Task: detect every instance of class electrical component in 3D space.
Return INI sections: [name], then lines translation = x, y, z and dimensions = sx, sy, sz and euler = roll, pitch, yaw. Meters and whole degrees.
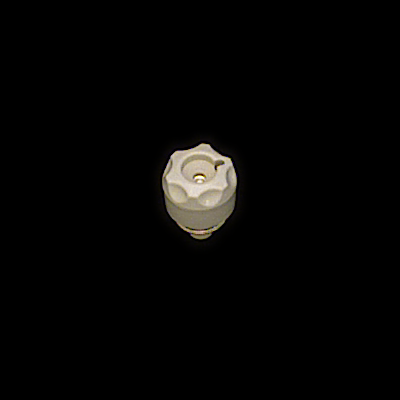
[electrical component]
translation = 0.000, 0.000, 0.635
dimensions = 0.043, 0.043, 0.062
euler = 0, -37, 1
